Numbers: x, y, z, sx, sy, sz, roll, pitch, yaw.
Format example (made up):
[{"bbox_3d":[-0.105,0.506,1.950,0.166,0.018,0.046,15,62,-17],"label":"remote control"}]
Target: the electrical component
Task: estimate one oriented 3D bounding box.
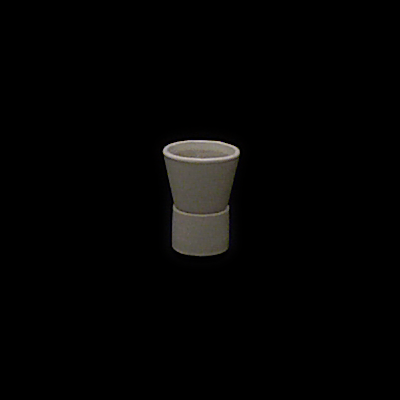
[{"bbox_3d":[0.000,0.000,0.640,0.044,0.066,0.044,1,20,0],"label":"electrical component"}]
